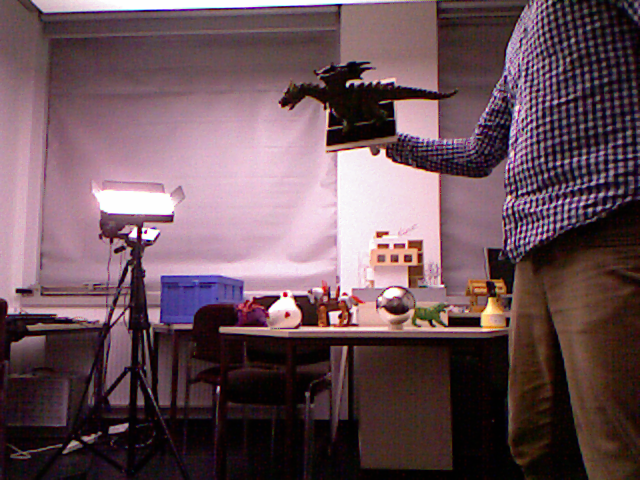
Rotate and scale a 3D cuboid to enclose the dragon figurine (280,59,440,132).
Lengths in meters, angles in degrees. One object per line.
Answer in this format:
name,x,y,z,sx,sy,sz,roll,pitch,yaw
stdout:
dragon figurine,0.095,-0.396,1.355,0.410,0.124,0.241,-9,-14,16
